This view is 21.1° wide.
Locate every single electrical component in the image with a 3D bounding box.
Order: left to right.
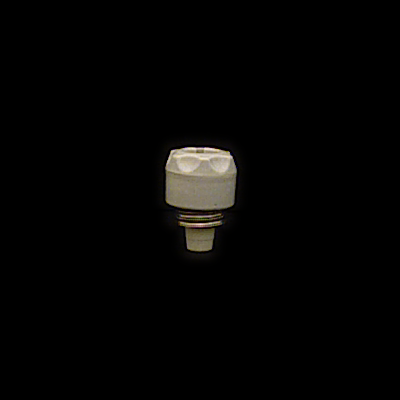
[{"bbox_3d":[0.000,0.000,0.650,0.043,0.062,0.043,2,13,0],"label":"electrical component"}]
